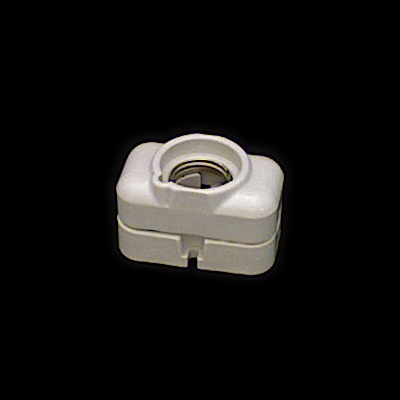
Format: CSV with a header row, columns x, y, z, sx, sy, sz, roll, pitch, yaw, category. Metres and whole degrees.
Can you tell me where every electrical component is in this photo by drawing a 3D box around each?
x,y,z,sx,sy,sz,roll,pitch,yaw,category
0.000,0.000,0.637,0.095,0.060,0.053,7,43,7,electrical component
